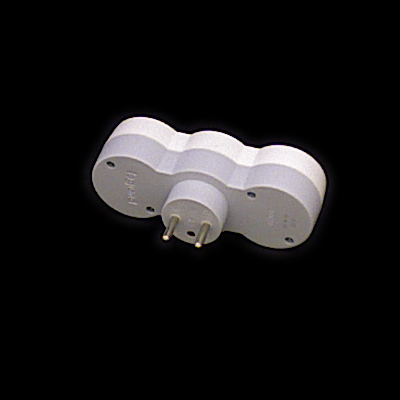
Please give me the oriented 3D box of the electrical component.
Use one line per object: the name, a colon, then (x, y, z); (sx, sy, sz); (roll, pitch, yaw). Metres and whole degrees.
electrical component: (0.000, 0.000, 0.633); (0.138, 0.052, 0.073); (12, 45, 11)
